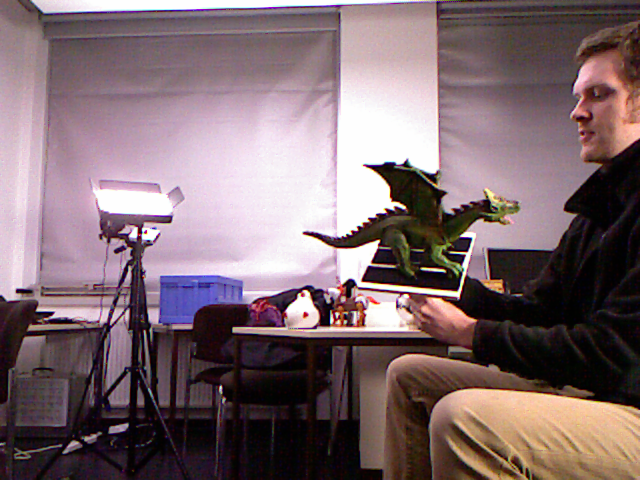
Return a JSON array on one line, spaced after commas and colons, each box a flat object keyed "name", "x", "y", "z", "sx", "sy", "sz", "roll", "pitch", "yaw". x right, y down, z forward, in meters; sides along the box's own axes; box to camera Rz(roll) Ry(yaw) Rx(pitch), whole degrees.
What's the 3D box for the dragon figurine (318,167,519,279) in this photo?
[{"name": "dragon figurine", "x": 0.168, "y": -0.050, "z": 1.008, "sx": 0.411, "sy": 0.238, "sz": 0.125, "roll": 5, "pitch": 44, "yaw": 19}]
